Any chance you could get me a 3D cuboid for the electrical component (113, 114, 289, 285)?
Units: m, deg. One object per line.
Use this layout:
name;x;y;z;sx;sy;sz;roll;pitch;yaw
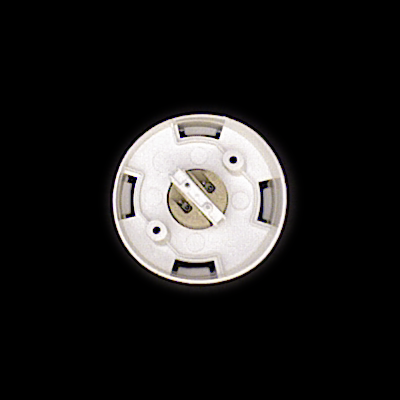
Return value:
electrical component;0.000;0.000;0.624;0.099;0.099;0.064;0;-6;-1
